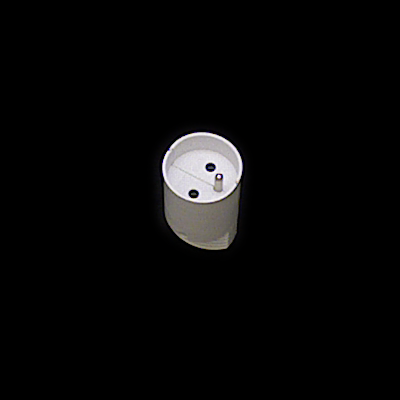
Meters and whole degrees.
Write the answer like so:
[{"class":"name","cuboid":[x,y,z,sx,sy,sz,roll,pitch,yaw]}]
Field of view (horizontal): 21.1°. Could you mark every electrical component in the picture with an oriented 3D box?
[{"class":"electrical component","cuboid":[0.000,0.000,0.617,0.043,0.043,0.081,0,-27,0]}]
